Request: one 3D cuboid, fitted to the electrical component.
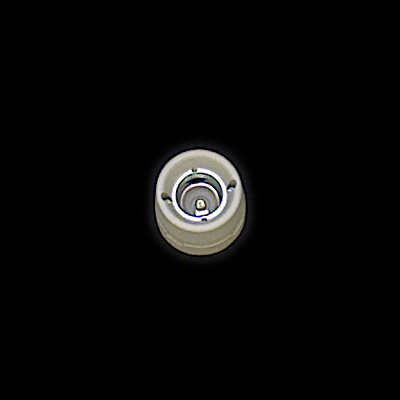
[{"bbox_3d":[0.000,0.000,0.633,0.055,0.056,0.047,0,-17,1],"label":"electrical component"}]
